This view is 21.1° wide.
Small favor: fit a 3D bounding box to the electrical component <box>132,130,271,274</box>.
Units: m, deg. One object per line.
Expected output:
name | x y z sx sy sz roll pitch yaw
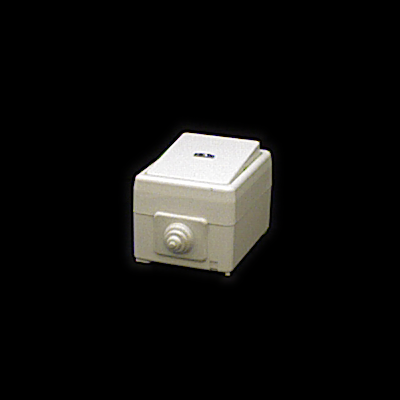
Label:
electrical component | 0.000 0.000 0.637 0.061 0.061 0.095 8 22 18
